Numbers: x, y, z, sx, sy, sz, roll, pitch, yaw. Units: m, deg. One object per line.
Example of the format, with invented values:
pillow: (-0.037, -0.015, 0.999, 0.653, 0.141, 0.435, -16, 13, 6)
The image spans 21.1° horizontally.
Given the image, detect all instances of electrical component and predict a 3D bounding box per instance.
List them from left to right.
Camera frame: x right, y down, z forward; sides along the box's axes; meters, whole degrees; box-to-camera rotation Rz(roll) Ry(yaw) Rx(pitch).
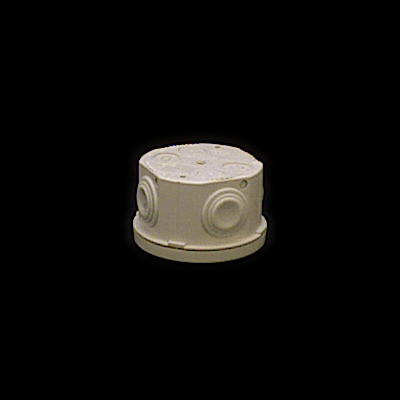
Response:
electrical component: (0.000, 0.000, 0.639, 0.080, 0.051, 0.079, 1, 22, 0)
